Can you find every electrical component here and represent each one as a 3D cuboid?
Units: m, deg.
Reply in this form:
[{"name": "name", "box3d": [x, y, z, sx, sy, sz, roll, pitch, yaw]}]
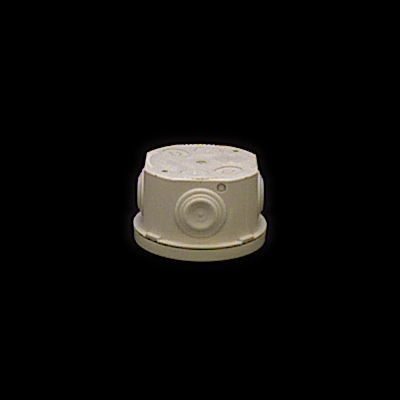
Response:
[{"name": "electrical component", "box3d": [0.000, 0.000, 0.642, 0.080, 0.051, 0.079, 1, 20, 0]}]
